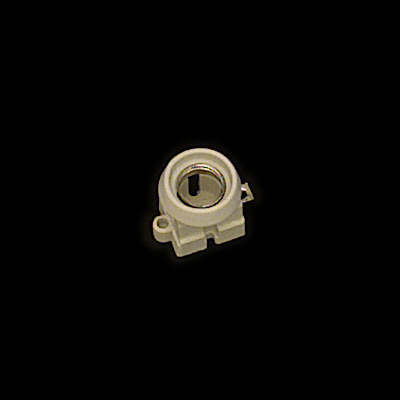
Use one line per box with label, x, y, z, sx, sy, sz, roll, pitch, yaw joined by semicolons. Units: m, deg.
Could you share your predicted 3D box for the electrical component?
electrical component;0.000;0.000;0.638;0.067;0.048;0.055;-19;-23;-9
